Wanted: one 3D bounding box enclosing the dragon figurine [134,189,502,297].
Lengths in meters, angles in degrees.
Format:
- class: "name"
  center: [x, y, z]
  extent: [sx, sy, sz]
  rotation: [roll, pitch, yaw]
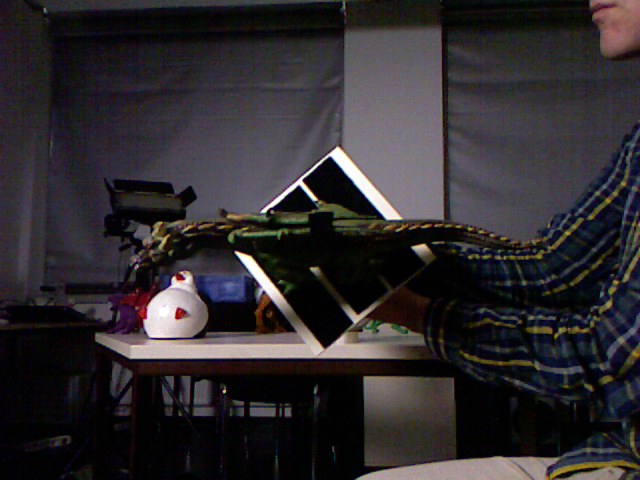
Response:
- class: "dragon figurine"
  center: [0.002, -0.006, 0.563]
  extent: [0.411, 0.124, 0.242]
  rotation: [-8, -9, 8]
